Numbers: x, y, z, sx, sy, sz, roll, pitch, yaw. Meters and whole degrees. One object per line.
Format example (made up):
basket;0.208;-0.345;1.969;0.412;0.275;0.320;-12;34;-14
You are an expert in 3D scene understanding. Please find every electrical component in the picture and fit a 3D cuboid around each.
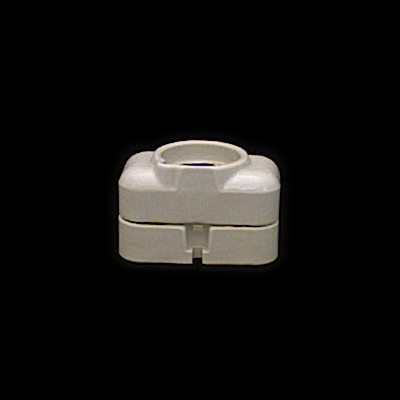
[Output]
electrical component;0.000;0.000;0.644;0.095;0.060;0.053;1;21;1
